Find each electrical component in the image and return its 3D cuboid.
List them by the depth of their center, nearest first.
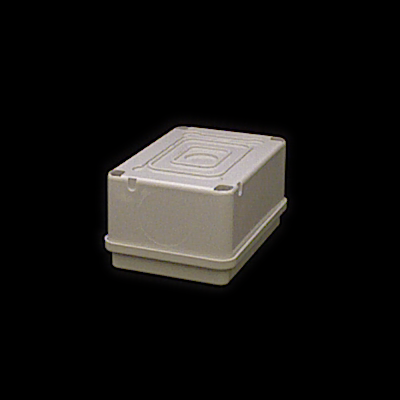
[{"bbox_3d":[0.000,0.000,0.640,0.078,0.058,0.112,9,22,19],"label":"electrical component"}]
